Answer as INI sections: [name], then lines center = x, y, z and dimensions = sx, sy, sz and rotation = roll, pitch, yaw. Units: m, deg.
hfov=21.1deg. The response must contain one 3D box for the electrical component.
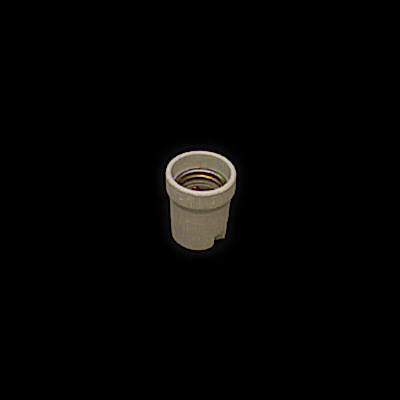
[electrical component]
center = 0.000, 0.000, 0.633
dimensions = 0.040, 0.047, 0.039
rotation = 1, 42, 0
